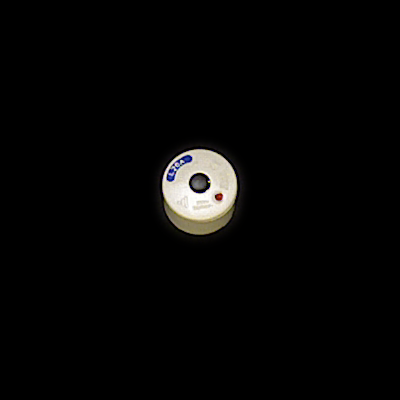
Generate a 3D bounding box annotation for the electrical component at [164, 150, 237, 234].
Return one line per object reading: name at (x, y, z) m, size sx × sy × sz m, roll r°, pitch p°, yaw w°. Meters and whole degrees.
electrical component at (0.000, 0.000, 0.616) m, size 0.040 × 0.040 × 0.078 m, roll 0°, pitch -16°, yaw -1°
